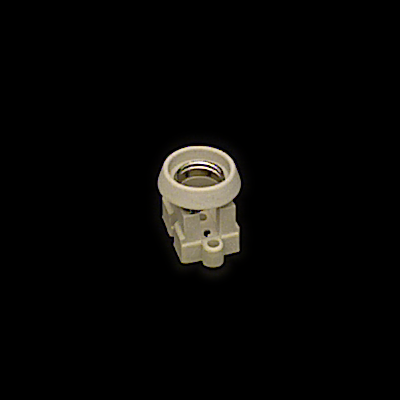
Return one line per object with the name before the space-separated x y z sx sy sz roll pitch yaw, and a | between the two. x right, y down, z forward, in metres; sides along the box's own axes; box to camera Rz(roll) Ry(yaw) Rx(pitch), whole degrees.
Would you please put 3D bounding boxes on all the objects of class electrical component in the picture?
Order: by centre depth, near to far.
electrical component | 0.000 0.000 0.640 0.049 0.056 0.065 -12 44 -16
